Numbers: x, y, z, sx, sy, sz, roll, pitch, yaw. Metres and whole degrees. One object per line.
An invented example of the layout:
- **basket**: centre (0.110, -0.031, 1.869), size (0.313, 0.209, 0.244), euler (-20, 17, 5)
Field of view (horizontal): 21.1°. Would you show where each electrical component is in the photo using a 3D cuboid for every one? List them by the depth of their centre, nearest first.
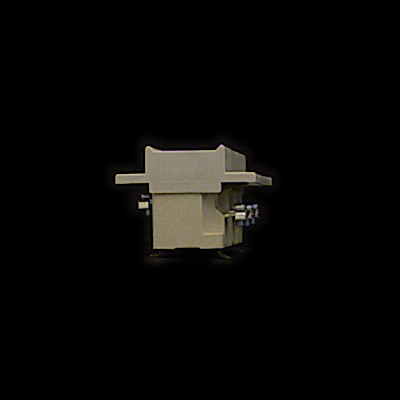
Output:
- **electrical component**: centre (0.000, 0.000, 0.661), size (0.078, 0.063, 0.121), euler (0, 0, 8)
